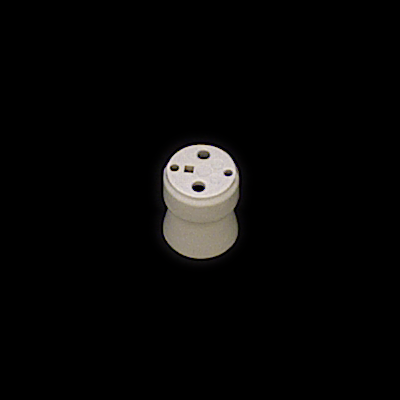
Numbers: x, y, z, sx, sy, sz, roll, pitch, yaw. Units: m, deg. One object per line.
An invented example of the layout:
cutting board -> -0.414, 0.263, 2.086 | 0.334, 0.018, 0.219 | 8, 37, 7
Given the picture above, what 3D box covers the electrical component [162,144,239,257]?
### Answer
electrical component -> 0.000, 0.000, 0.631 | 0.045, 0.044, 0.055 | 0, -38, -1
